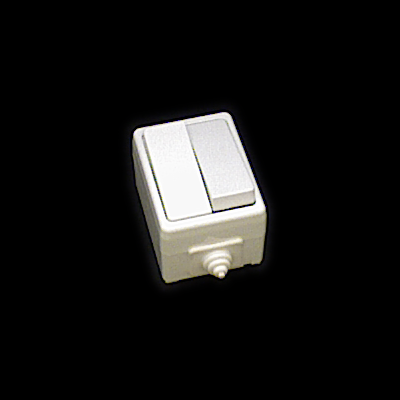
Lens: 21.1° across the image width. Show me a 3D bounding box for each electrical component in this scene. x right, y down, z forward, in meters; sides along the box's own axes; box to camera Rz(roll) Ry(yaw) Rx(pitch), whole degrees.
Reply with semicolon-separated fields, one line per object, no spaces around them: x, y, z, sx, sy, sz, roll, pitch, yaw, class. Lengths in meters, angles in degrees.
0.000;0.000;0.626;0.062;0.096;0.061;-11;-37;-9;electrical component
